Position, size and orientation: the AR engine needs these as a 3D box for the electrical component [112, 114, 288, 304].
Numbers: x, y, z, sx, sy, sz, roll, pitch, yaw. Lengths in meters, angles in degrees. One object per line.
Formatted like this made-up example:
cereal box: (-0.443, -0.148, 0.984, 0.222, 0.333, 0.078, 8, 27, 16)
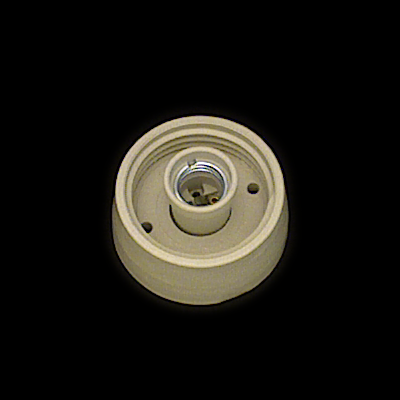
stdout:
electrical component: (0.000, 0.000, 0.633, 0.108, 0.108, 0.060, 0, -27, 0)
